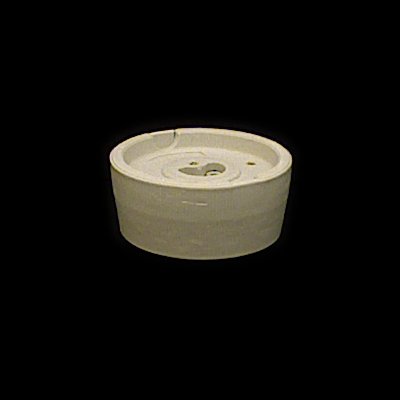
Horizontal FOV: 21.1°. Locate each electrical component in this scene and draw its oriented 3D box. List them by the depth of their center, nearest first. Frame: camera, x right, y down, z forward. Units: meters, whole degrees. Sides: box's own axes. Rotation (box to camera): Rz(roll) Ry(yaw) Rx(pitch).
[{"bbox_3d":[0.000,0.000,0.647,0.108,0.061,0.106,2,22,0],"label":"electrical component"}]
